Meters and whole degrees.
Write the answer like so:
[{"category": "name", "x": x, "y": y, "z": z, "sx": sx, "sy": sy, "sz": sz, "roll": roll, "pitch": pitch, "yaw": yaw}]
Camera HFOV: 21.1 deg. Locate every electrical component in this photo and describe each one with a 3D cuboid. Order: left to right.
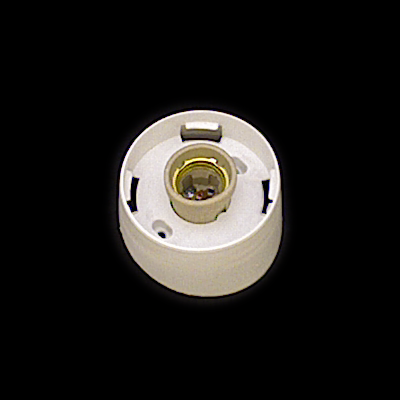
[{"category": "electrical component", "x": 0.000, "y": 0.000, "z": 0.625, "sx": 0.099, "sy": 0.099, "sz": 0.064, "roll": 0, "pitch": -27, "yaw": 0}]
